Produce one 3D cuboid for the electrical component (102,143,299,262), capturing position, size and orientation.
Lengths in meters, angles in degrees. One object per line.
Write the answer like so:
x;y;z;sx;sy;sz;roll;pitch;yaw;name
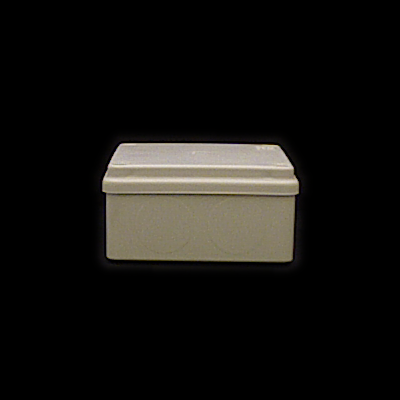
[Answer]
0.000;0.000;0.643;0.109;0.056;0.108;1;10;-1;electrical component
